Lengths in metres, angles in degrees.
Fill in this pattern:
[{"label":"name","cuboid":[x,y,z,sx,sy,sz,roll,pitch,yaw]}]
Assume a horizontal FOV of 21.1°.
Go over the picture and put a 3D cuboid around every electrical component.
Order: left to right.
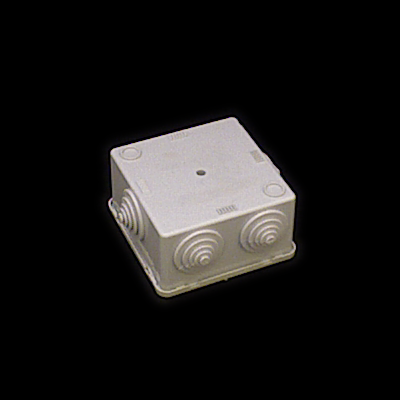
[{"label":"electrical component","cuboid":[0.000,0.000,0.635,0.100,0.049,0.098,-16,45,-18]}]
